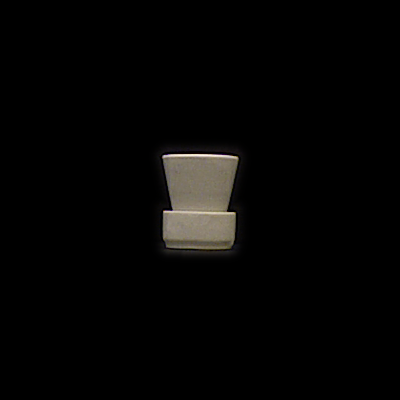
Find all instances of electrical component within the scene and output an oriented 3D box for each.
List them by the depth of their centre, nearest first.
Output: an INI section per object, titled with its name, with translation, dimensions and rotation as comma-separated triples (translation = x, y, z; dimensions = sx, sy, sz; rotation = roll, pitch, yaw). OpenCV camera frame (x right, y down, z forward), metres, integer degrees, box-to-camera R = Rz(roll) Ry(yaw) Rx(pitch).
[electrical component]
translation = 0.000, 0.000, 0.648
dimensions = 0.045, 0.055, 0.044
rotation = 1, 2, 0
